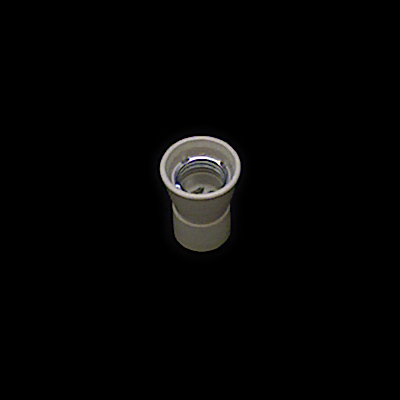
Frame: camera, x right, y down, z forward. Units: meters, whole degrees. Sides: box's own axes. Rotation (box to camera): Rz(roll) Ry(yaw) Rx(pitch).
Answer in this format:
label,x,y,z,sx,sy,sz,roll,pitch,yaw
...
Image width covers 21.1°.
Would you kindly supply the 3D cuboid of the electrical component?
label,x,y,z,sx,sy,sz,roll,pitch,yaw
electrical component,0.000,0.000,0.625,0.044,0.044,0.065,0,-37,1
